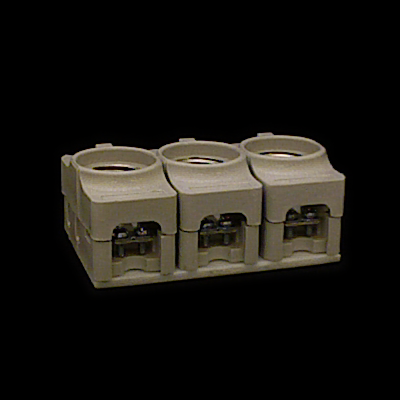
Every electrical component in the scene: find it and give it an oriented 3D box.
[{"bbox_3d":[0.000,0.000,0.646,0.150,0.063,0.088,-5,21,-17],"label":"electrical component"}]
